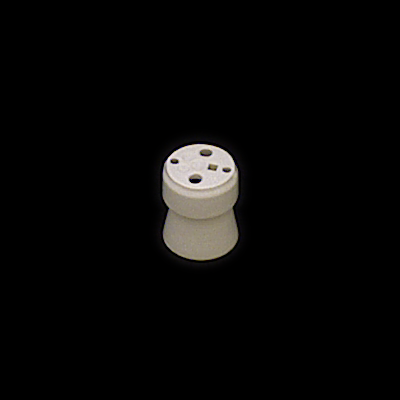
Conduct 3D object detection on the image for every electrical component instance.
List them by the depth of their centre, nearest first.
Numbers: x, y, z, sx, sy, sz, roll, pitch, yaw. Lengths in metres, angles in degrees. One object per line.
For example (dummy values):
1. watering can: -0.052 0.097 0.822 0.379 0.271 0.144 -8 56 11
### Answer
1. electrical component: 0.000 0.000 0.631 0.045 0.055 0.044 0 42 0
